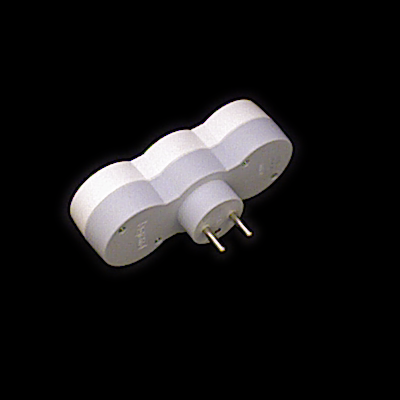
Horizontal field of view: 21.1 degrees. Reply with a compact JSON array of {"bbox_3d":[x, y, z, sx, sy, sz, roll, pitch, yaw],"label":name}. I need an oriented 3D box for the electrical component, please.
[{"bbox_3d":[0.000,0.000,0.633,0.138,0.073,0.052,-29,-30,-21],"label":"electrical component"}]
